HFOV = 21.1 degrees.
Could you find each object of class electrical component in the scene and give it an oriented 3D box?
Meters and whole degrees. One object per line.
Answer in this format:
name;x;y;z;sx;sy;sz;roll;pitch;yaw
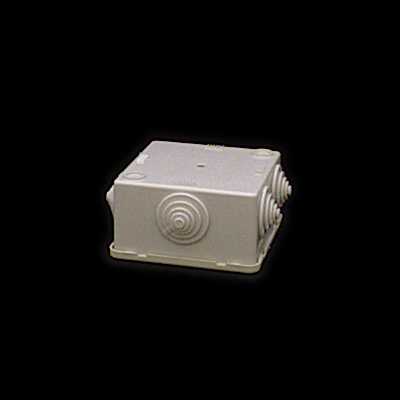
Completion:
electrical component;0.000;0.000;0.642;0.099;0.049;0.099;6;21;12
